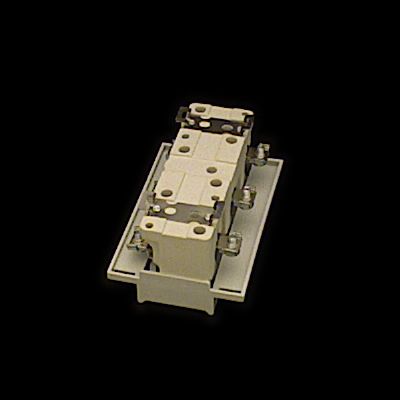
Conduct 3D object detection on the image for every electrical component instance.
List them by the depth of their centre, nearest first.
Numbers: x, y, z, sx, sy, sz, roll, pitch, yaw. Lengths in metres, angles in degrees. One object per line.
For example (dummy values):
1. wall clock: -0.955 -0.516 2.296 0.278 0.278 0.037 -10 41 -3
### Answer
1. electrical component: 0.000 0.000 0.637 0.078 0.063 0.120 9 43 10
